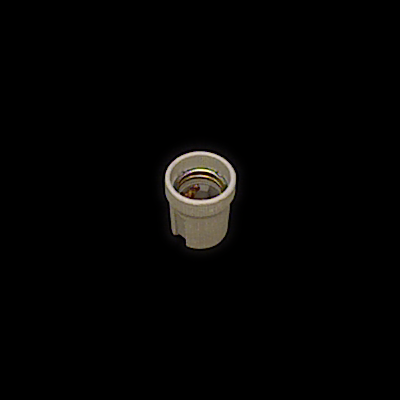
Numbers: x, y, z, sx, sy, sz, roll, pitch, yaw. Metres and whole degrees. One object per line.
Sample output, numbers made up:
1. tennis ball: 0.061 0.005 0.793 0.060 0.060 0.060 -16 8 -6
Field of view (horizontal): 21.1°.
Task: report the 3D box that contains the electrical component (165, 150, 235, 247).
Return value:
1. electrical component: 0.000 0.000 0.631 0.040 0.039 0.047 0 -38 -1
